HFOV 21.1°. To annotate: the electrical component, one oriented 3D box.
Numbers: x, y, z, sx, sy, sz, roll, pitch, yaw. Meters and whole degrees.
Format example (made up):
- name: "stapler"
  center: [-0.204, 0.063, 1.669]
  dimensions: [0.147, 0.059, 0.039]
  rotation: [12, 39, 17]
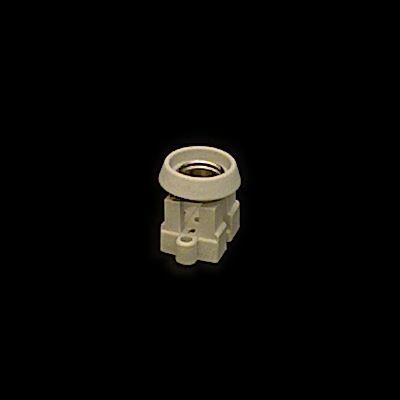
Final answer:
- name: "electrical component"
  center: [0.000, 0.000, 0.644]
  dimensions: [0.048, 0.056, 0.066]
  rotation: [12, 34, 14]
